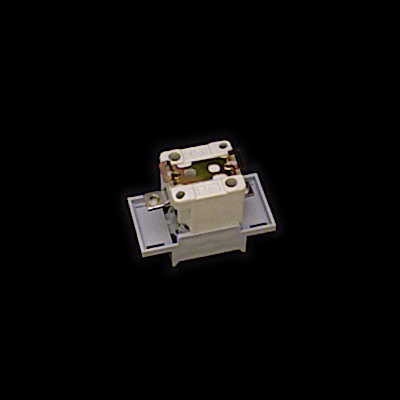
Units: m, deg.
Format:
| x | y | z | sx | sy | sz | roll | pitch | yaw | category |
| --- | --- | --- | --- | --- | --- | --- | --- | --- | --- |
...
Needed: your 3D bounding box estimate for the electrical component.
| x | y | z | sx | sy | sz | roll | pitch | yaw | category |
| --- | --- | --- | --- | --- | --- | --- | --- | --- | --- |
| 0.000 | 0.000 | 0.628 | 0.081 | 0.042 | 0.064 | -12 | -37 | -9 | electrical component |
